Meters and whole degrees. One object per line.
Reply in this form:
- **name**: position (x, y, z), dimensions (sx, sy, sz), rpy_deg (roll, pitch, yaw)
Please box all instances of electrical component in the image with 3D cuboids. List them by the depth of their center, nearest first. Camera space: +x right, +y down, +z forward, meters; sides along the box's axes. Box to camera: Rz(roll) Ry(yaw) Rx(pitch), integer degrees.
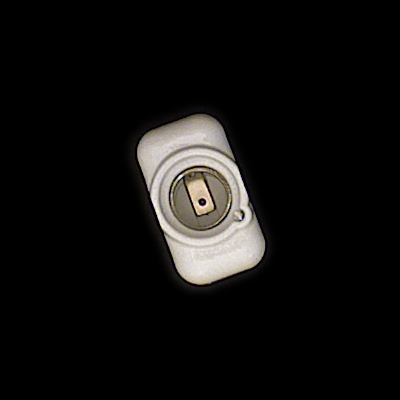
- **electrical component**: position (0.000, 0.000, 0.635), dimensions (0.054, 0.095, 0.059), rpy_deg (-20, -5, -1)
